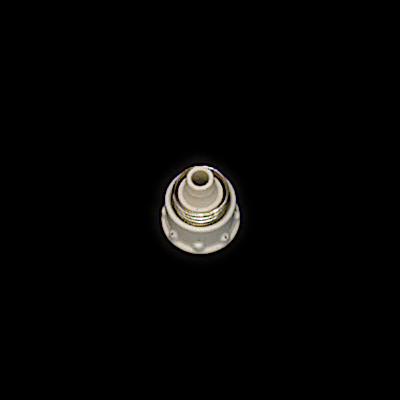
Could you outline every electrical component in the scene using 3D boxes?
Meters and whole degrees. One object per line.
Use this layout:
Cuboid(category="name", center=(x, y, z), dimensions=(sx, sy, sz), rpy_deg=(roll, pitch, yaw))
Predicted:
Cuboid(category="electrical component", center=(0.000, 0.000, 0.633), dimensions=(0.048, 0.048, 0.062), rpy_deg=(0, -25, 0))
